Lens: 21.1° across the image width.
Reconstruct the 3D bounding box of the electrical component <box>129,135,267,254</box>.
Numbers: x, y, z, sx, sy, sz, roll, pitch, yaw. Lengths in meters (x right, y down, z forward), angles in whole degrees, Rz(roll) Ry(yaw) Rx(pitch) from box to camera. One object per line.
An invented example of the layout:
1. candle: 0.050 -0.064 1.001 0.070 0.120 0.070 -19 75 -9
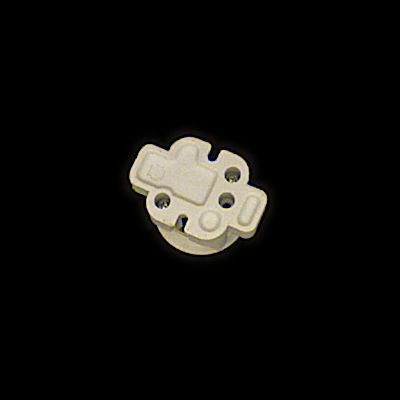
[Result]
1. electrical component: 0.000 0.000 0.635 0.078 0.058 0.056 22 -14 8
